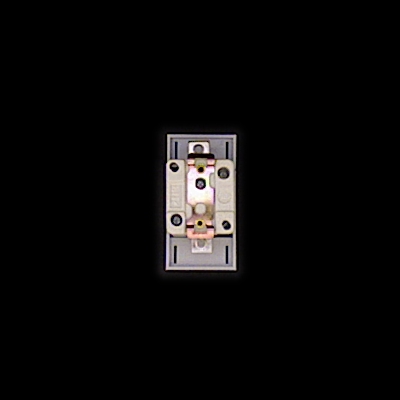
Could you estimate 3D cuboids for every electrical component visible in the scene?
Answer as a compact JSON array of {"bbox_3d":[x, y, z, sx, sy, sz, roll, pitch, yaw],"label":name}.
[{"bbox_3d":[0.000,0.000,0.626,0.042,0.081,0.063,0,-7,0],"label":"electrical component"}]
